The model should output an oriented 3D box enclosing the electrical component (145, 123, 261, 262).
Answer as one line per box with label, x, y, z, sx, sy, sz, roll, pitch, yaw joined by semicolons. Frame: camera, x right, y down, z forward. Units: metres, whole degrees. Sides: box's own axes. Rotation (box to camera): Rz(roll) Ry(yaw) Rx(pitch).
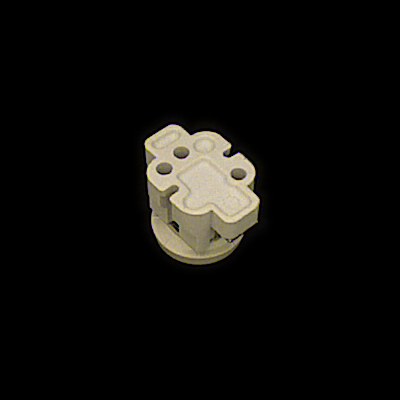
electrical component;0.000;0.000;0.637;0.058;0.078;0.057;-35;-28;-25
